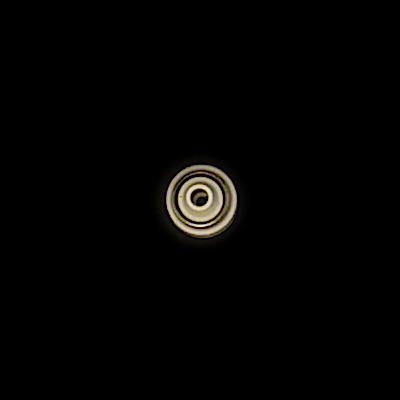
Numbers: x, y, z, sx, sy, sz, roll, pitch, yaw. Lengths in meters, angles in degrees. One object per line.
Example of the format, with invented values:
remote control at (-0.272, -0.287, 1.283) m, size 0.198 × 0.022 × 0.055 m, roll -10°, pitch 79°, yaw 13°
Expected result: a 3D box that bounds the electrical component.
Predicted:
electrical component at (0.000, 0.000, 0.635) m, size 0.043 × 0.043 × 0.062 m, roll 0°, pitch -4°, yaw 2°
